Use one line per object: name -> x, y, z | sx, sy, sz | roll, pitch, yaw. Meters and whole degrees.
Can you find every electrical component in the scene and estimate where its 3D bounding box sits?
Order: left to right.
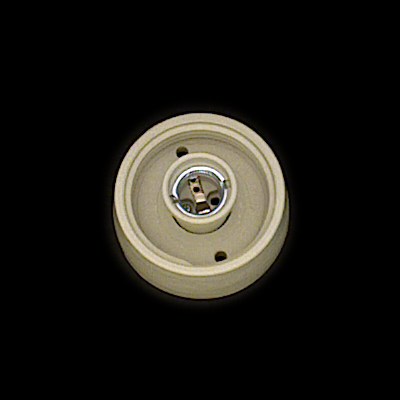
electrical component -> 0.000, 0.000, 0.633 | 0.108, 0.108, 0.060 | 0, -16, 0
